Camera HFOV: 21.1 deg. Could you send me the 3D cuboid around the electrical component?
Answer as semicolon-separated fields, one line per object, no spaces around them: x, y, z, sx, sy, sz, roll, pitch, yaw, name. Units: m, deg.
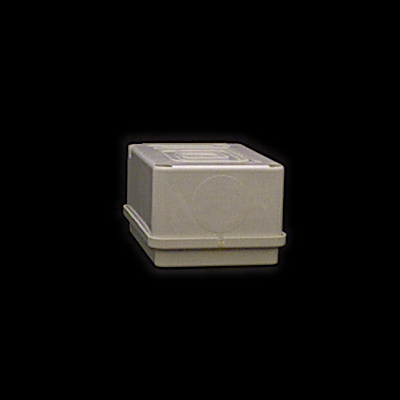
0.000;0.000;0.644;0.078;0.057;0.112;-1;11;-12;electrical component
